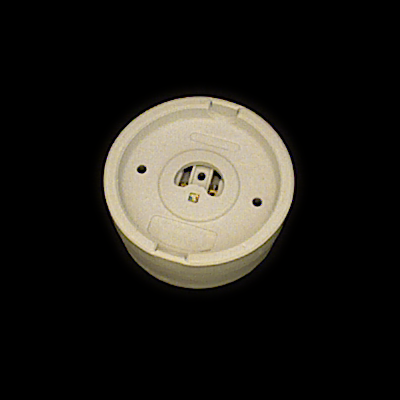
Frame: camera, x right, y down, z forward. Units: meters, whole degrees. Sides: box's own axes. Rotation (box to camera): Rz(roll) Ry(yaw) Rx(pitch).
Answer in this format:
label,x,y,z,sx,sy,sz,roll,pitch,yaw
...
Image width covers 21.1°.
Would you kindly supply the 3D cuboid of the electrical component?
label,x,y,z,sx,sy,sz,roll,pitch,yaw
electrical component,0.000,0.000,0.632,0.108,0.108,0.060,0,-27,-1
